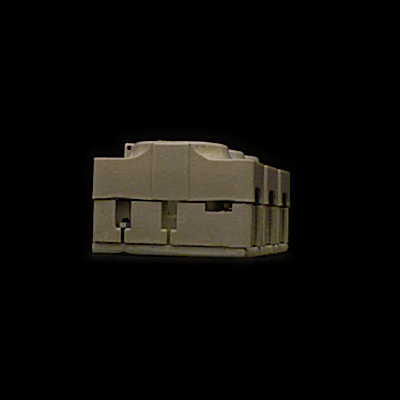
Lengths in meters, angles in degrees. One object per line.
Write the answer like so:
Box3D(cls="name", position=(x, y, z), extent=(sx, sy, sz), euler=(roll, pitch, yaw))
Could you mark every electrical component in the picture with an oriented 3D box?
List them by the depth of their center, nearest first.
Box3D(cls="electrical component", position=(0.000, 0.000, 0.656), extent=(0.089, 0.062, 0.150), euler=(1, -1, 12))
